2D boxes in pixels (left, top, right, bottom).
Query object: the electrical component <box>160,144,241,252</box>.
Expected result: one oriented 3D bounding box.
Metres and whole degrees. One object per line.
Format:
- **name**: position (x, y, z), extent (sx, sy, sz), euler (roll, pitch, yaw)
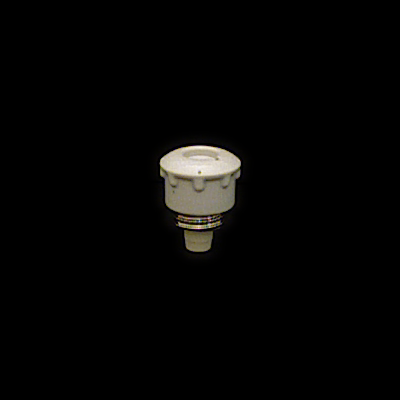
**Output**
- **electrical component**: position (0.000, 0.000, 0.647), extent (0.048, 0.063, 0.047), euler (1, 22, 0)
